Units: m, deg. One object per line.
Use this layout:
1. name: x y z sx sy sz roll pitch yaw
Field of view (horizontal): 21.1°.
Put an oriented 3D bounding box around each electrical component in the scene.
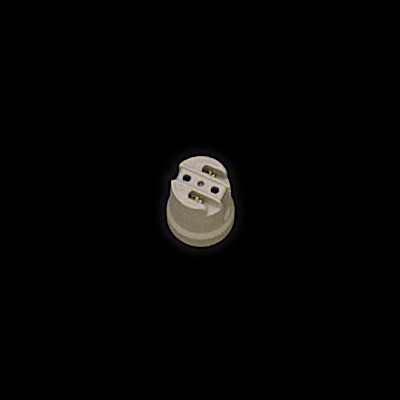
1. electrical component: 0.000 0.000 0.632 0.040 0.040 0.046 0 -27 0
